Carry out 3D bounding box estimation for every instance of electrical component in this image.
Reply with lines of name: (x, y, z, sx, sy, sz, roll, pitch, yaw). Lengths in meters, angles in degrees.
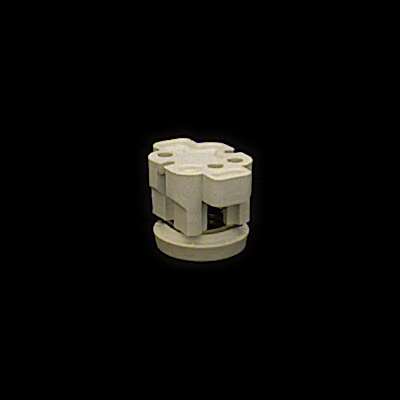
electrical component: (0.000, 0.000, 0.647, 0.058, 0.057, 0.077, -13, 24, -30)
